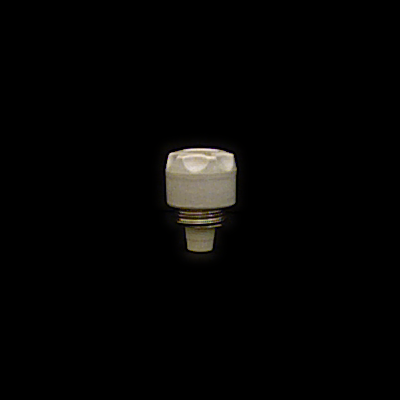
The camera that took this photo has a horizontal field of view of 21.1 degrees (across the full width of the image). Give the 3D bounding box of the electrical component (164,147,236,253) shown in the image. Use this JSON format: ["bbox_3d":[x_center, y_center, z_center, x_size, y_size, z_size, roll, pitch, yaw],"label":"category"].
[{"bbox_3d":[0.000,0.000,0.651,0.043,0.062,0.043,1,11,0],"label":"electrical component"}]
